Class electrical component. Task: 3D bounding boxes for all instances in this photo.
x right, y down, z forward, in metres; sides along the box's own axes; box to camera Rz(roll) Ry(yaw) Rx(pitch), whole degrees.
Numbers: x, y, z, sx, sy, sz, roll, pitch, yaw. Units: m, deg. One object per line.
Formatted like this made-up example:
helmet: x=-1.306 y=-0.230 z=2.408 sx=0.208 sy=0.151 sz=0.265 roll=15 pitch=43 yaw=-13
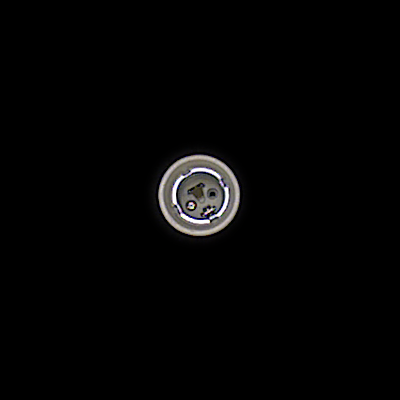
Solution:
electrical component: x=0.000 y=0.000 z=0.624 sx=0.044 sy=0.044 sz=0.065 roll=0 pitch=-5 yaw=1
